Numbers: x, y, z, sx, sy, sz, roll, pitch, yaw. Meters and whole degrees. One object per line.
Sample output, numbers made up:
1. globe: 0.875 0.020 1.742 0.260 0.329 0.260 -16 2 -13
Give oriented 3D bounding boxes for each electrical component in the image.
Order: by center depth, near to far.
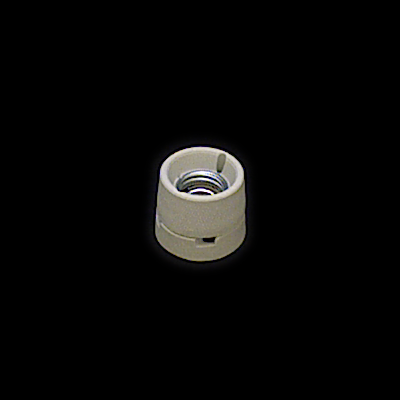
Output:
1. electrical component: 0.000 0.000 0.637 0.055 0.047 0.055 1 42 -1
